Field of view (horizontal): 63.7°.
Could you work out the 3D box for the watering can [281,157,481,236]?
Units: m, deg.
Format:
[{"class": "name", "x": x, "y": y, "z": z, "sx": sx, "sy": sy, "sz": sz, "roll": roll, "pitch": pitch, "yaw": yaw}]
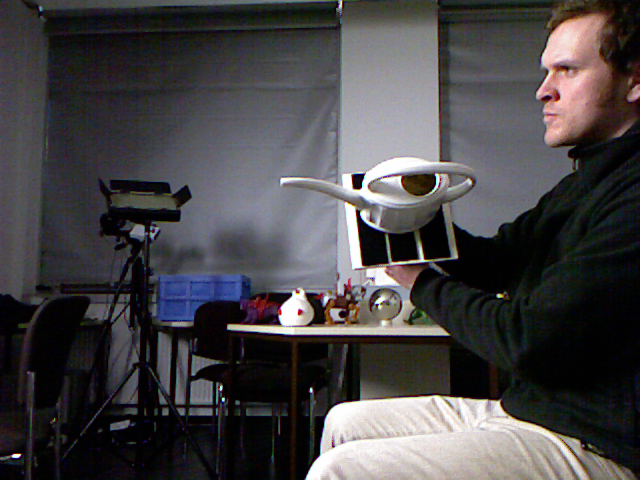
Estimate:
[{"class": "watering can", "x": 0.110, "y": -0.084, "z": 0.946, "sx": 0.349, "sy": 0.106, "sz": 0.221, "roll": -3, "pitch": -20, "yaw": -1}]
